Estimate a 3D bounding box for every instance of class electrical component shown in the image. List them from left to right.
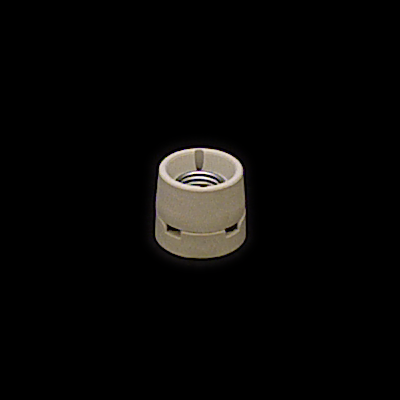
[{"bbox_3d":[0.000,0.000,0.636,0.055,0.047,0.055,0,32,0],"label":"electrical component"}]
